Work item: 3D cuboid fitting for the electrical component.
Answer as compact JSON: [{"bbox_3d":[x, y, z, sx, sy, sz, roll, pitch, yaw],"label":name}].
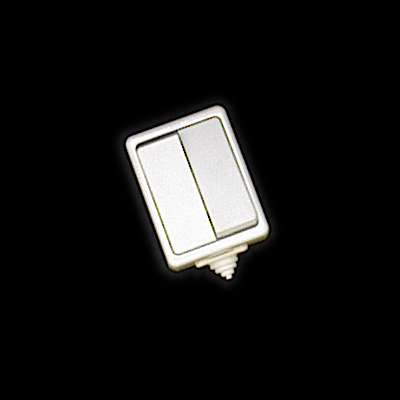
[{"bbox_3d":[0.000,0.000,0.626,0.062,0.096,0.061,-20,-7,-2],"label":"electrical component"}]
